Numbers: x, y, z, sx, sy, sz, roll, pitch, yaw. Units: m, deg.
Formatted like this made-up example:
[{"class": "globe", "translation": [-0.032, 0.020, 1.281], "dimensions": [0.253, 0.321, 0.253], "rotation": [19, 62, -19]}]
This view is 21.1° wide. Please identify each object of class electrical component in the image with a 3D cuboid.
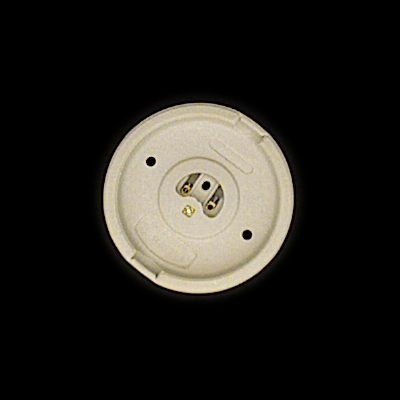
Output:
[{"class": "electrical component", "translation": [0.000, 0.000, 0.635], "dimensions": [0.108, 0.108, 0.060], "rotation": [0, -6, 0]}]
